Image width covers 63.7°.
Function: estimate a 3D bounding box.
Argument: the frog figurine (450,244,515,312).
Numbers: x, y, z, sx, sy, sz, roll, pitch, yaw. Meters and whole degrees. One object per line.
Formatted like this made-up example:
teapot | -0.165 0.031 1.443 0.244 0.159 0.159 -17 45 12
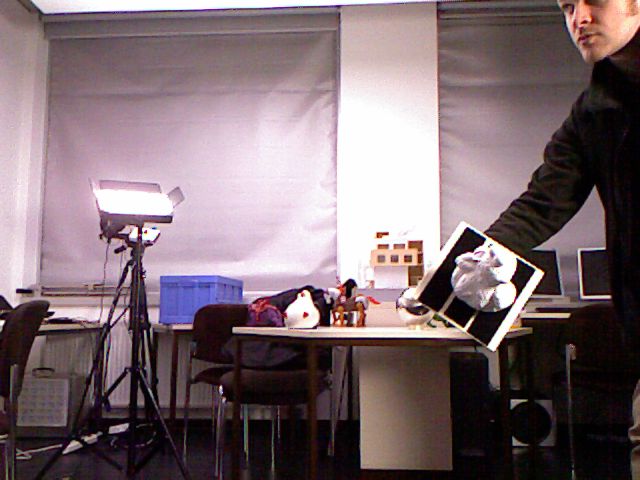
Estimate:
frog figurine | 0.339 0.079 1.046 0.123 0.138 0.158 -34 -10 -7
